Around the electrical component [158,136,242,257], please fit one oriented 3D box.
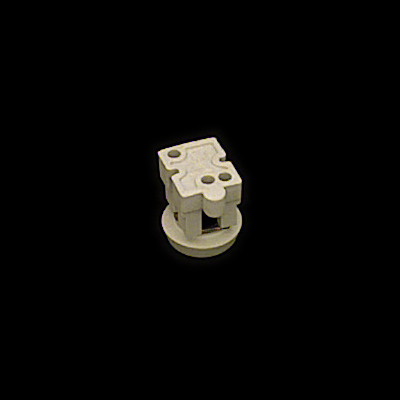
[{"bbox_3d":[0.000,0.000,0.640,0.048,0.056,0.065,-15,44,-14],"label":"electrical component"}]
